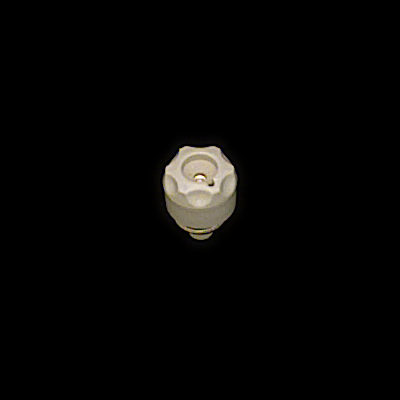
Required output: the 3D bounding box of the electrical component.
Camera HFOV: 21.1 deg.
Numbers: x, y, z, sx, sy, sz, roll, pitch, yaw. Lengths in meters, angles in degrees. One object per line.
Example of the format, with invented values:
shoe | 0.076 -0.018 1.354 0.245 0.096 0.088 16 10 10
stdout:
electrical component | 0.000 0.000 0.636 0.043 0.043 0.062 0 -38 1
